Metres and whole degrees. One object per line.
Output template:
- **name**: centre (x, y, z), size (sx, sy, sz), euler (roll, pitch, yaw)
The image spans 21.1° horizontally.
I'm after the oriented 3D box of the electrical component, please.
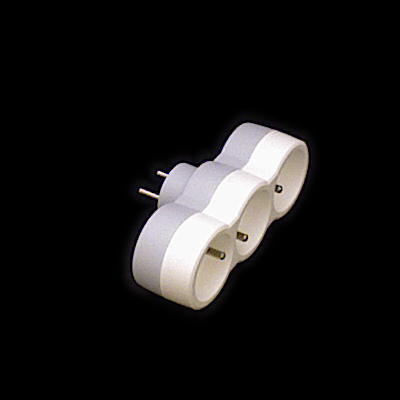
- **electrical component**: centre (0.000, 0.000, 0.631), size (0.073, 0.052, 0.138), euler (22, 47, 24)
